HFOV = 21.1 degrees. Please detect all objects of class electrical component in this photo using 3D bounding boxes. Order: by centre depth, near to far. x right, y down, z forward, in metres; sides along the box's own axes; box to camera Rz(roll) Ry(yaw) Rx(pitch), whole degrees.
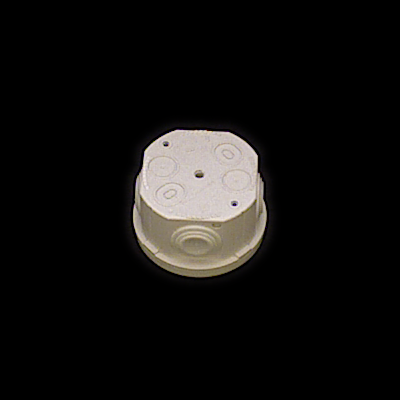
[{"bbox_3d":[0.000,0.000,0.633,0.080,0.080,0.051,0,-38,0],"label":"electrical component"}]
